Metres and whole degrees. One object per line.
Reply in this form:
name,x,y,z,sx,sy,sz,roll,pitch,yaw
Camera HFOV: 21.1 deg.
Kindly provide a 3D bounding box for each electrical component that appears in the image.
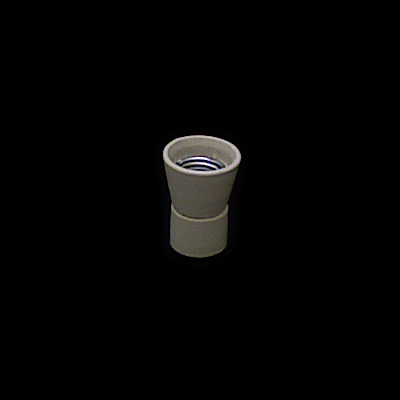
electrical component,0.000,0.000,0.633,0.044,0.066,0.044,2,32,-1
